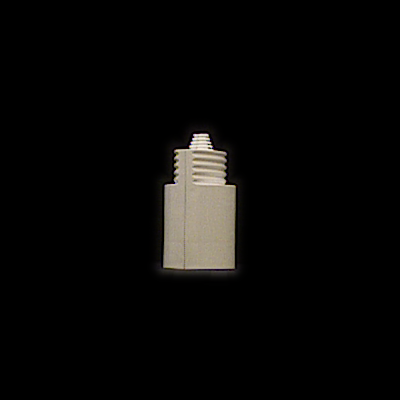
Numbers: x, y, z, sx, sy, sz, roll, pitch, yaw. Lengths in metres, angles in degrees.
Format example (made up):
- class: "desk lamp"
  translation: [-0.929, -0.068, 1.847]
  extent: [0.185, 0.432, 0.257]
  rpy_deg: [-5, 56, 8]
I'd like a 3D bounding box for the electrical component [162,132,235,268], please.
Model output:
- class: "electrical component"
  translation: [0.000, 0.000, 0.650]
  extent: [0.043, 0.081, 0.043]
  rpy_deg: [1, 1, 0]
